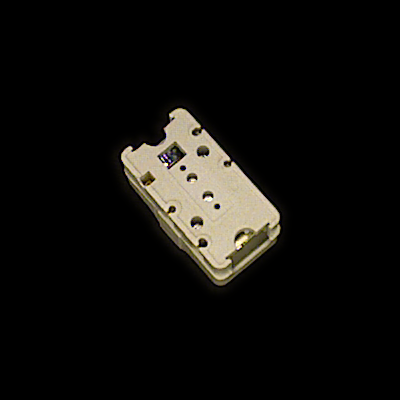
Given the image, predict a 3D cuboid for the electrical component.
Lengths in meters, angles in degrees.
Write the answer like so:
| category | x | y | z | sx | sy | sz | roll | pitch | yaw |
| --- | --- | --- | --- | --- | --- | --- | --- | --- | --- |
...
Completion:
| category | x | y | z | sx | sy | sz | roll | pitch | yaw |
| --- | --- | --- | --- | --- | --- | --- | --- | --- | --- |
| electrical component | 0.000 | 0.000 | 0.636 | 0.050 | 0.089 | 0.055 | -39 | -13 | -9 |
